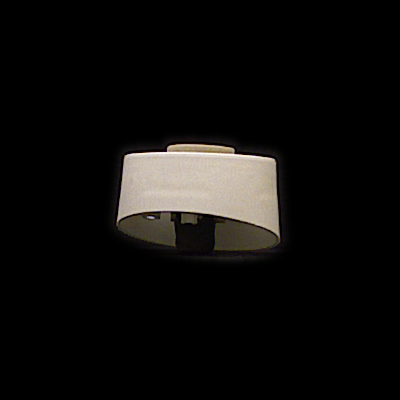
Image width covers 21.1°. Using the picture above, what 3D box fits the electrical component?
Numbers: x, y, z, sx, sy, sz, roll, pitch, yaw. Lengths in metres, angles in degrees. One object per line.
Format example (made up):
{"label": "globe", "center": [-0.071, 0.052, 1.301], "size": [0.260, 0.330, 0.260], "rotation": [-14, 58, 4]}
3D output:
{"label": "electrical component", "center": [0.000, 0.000, 0.649], "size": [0.099, 0.064, 0.099], "rotation": [1, -1, 0]}
